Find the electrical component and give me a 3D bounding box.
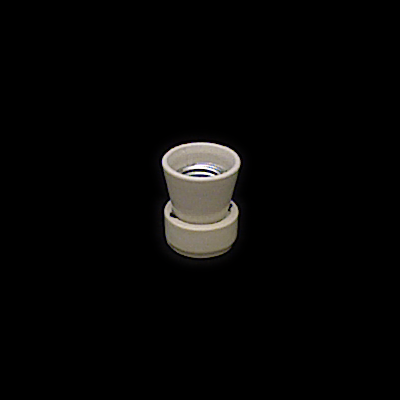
[{"bbox_3d":[0.000,0.000,0.635,0.045,0.056,0.044,1,31,0],"label":"electrical component"}]
